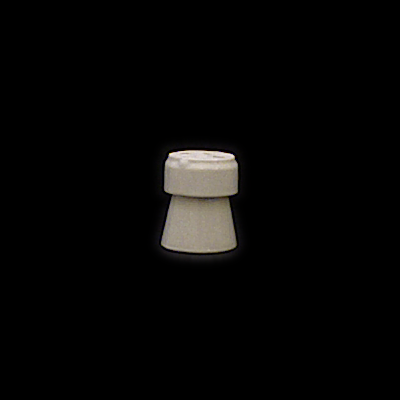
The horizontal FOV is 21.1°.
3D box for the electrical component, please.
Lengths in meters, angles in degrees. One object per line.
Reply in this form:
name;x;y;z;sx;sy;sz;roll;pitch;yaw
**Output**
electrical component;0.000;0.000;0.644;0.045;0.055;0.044;1;12;0
